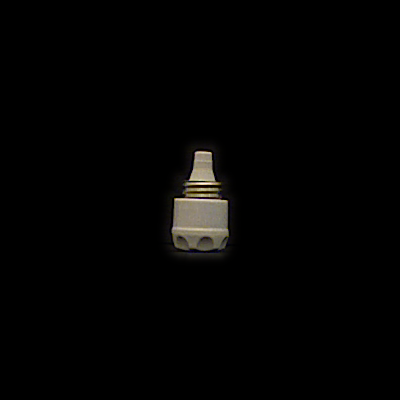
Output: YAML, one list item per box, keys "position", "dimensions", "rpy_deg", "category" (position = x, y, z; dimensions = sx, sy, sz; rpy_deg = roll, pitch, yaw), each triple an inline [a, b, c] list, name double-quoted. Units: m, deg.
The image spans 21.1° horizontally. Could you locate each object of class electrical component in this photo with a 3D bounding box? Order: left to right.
- position: [0.000, 0.000, 0.664]
  dimensions: [0.035, 0.061, 0.035]
  rpy_deg: [3, 3, 0]
  category: "electrical component"
